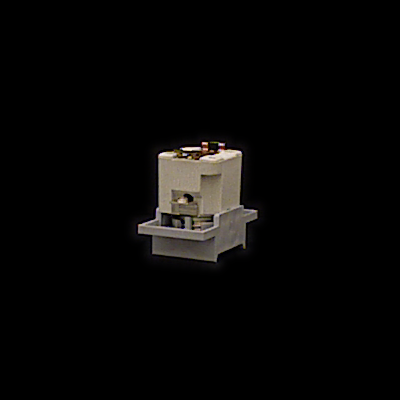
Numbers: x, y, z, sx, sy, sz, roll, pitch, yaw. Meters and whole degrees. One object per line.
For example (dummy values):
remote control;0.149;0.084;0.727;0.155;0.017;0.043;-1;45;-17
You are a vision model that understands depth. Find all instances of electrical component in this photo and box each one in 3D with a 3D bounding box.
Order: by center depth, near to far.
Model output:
electrical component;0.000;0.000;0.643;0.042;0.064;0.080;6;11;24
